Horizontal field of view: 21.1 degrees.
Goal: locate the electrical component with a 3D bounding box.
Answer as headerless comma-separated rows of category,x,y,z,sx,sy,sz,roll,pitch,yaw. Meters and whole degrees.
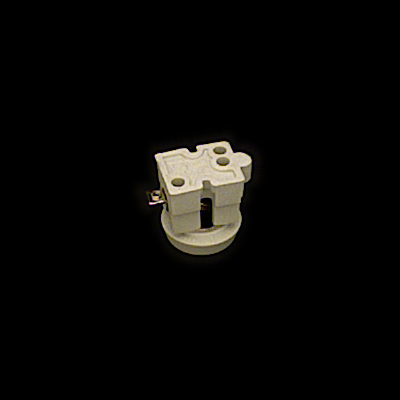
electrical component,0.000,0.000,0.641,0.067,0.056,0.048,-11,45,-11
